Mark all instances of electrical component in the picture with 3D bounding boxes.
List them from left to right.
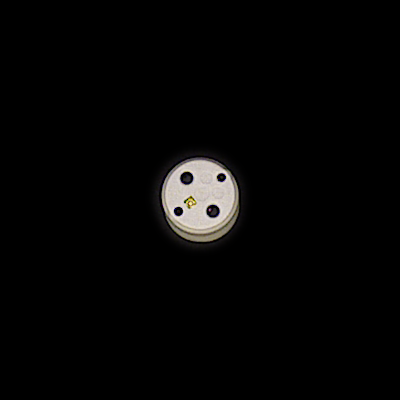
[{"bbox_3d":[0.000,0.000,0.630,0.045,0.045,0.055,0,-7,0],"label":"electrical component"}]
